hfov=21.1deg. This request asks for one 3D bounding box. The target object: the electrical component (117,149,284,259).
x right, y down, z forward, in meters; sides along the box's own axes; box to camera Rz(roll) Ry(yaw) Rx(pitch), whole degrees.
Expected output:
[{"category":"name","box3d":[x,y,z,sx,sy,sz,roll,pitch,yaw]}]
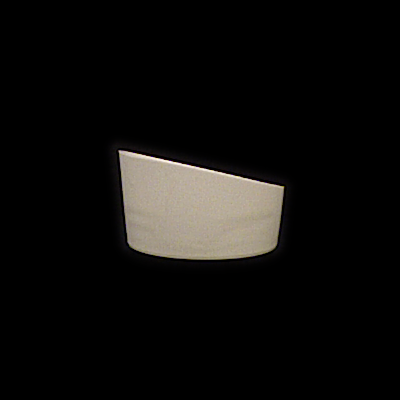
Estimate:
[{"category":"electrical component","box3d":[0.000,0.000,0.642,0.099,0.064,0.098,1,11,0]}]
